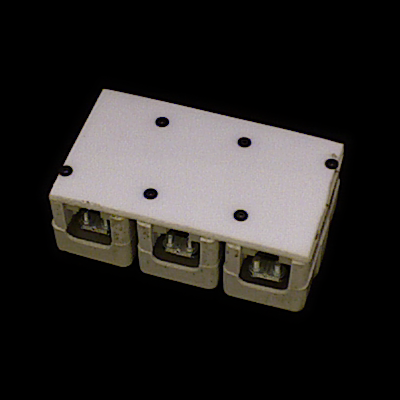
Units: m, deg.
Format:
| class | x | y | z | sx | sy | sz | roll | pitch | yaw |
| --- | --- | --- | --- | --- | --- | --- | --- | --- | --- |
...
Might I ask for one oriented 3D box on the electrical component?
| class | x | y | z | sx | sy | sz | roll | pitch | yaw |
| --- | --- | --- | --- | --- | --- | --- | --- | --- | --- |
| electrical component | 0.000 | 0.000 | 0.632 | 0.150 | 0.088 | 0.062 | 14 | -37 | 10 |
